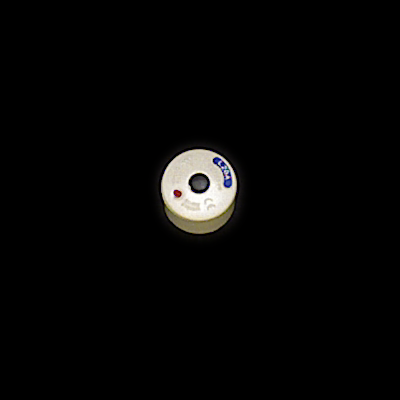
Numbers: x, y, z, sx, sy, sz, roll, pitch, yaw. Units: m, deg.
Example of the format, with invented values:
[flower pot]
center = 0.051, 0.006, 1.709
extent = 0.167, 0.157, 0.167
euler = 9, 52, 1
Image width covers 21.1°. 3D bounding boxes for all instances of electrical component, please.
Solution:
[electrical component]
center = 0.000, 0.000, 0.617
extent = 0.040, 0.040, 0.078
euler = 0, -16, 1
